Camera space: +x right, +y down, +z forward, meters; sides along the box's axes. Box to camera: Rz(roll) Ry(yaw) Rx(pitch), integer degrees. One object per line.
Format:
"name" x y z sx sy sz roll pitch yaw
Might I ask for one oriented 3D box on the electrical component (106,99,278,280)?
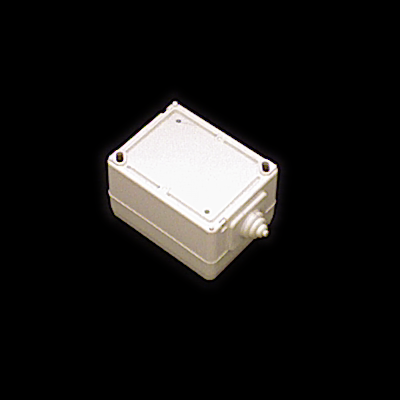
"electrical component" 0.000 0.000 0.627 0.096 0.061 0.062 34 59 22
